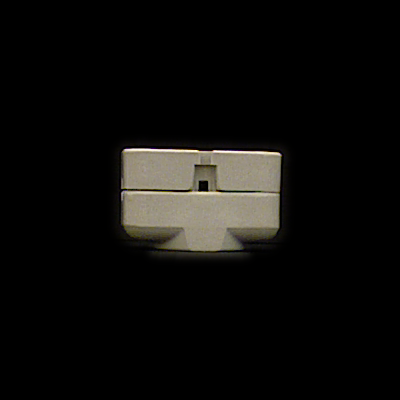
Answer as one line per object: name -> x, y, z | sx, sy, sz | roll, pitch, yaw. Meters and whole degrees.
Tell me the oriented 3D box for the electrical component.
electrical component -> 0.000, 0.000, 0.659 | 0.095, 0.059, 0.053 | 1, 1, -8
